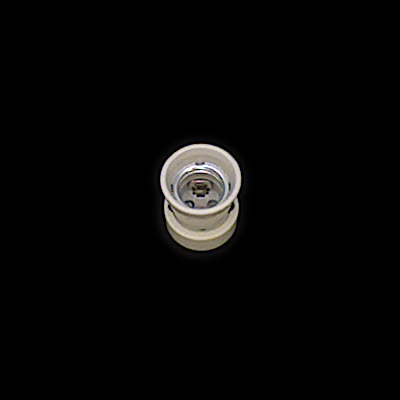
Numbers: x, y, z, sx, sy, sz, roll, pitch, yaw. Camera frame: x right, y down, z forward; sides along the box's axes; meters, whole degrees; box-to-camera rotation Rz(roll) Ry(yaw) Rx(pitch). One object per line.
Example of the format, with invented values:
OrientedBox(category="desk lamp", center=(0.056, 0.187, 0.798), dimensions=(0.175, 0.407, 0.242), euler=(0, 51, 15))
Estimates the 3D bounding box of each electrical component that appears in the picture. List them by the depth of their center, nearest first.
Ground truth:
OrientedBox(category="electrical component", center=(0.000, 0.000, 0.628), dimensions=(0.045, 0.045, 0.055), euler=(0, -28, -1))
